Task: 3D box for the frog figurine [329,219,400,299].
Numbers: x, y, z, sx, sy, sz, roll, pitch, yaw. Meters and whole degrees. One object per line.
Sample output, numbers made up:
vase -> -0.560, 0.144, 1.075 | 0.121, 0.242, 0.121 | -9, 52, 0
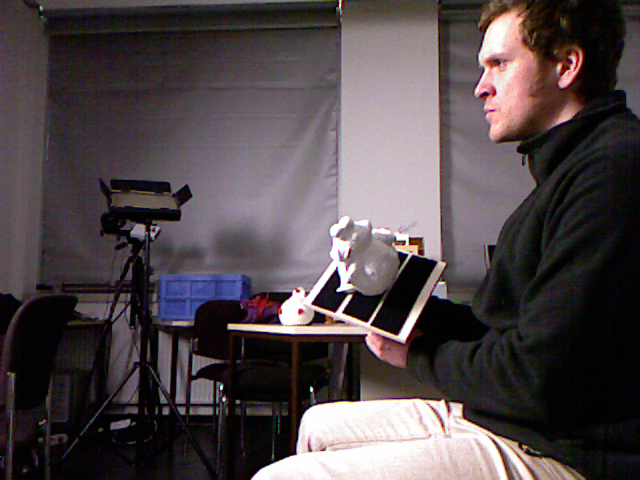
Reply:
frog figurine -> 0.082, 0.024, 0.919 | 0.139, 0.156, 0.125 | -32, 52, -20
